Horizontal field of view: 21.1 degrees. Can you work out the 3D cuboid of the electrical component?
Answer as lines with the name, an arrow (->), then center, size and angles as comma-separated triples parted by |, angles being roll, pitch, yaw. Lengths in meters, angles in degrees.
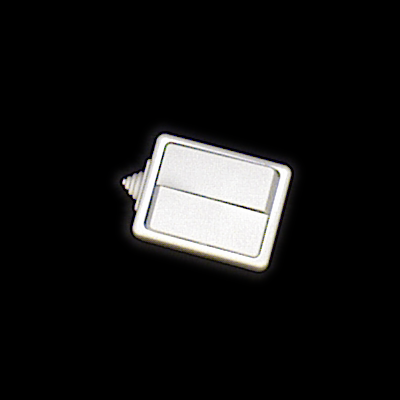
electrical component -> 0.000, 0.000, 0.627 | 0.096, 0.062, 0.061 | 15, -6, 2
